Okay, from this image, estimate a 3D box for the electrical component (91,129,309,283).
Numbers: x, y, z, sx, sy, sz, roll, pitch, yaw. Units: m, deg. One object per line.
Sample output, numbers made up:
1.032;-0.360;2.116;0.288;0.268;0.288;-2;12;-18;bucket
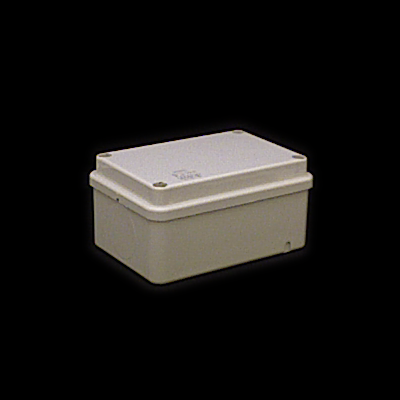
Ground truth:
0.000;0.000;0.637;0.113;0.058;0.077;-12;25;-32;electrical component
